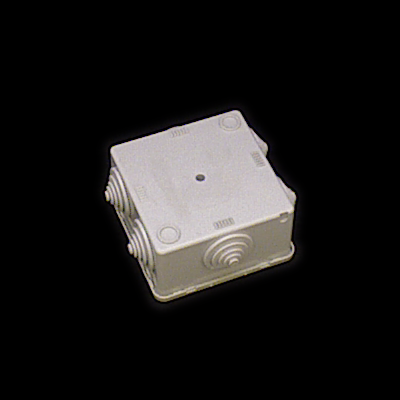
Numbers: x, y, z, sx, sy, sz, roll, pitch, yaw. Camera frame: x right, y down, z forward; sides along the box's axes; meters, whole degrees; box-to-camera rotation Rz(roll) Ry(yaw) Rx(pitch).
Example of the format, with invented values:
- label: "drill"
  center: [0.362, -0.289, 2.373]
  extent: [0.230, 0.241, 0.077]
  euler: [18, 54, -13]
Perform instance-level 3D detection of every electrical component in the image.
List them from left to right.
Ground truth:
- label: "electrical component"
  center: [0.000, 0.000, 0.632]
  extent: [0.100, 0.099, 0.049]
  euler: [-18, -35, -13]
